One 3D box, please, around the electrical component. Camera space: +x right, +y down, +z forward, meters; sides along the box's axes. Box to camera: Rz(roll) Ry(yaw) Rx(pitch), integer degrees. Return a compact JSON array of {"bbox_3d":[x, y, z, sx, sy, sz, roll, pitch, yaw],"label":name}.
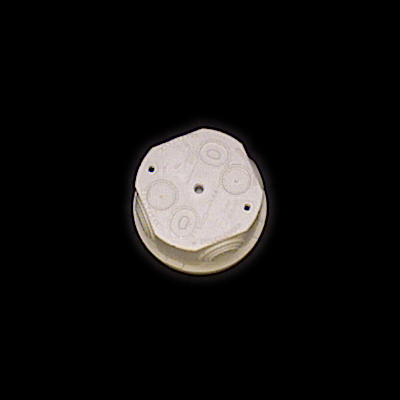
[{"bbox_3d":[0.000,0.000,0.632,0.080,0.080,0.050,0,-17,1],"label":"electrical component"}]
